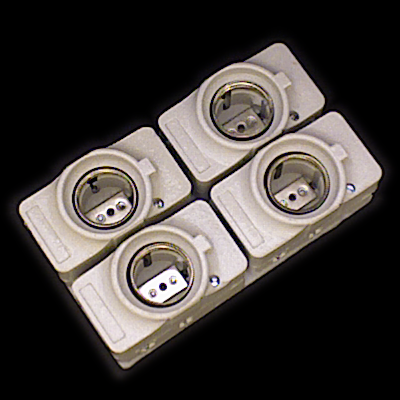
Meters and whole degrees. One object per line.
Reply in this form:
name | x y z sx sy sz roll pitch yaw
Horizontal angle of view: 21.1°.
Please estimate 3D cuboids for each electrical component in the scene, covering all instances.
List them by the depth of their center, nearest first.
electrical component | 0.000 0.000 0.625 0.187 0.105 0.060 -33 -14 -10
